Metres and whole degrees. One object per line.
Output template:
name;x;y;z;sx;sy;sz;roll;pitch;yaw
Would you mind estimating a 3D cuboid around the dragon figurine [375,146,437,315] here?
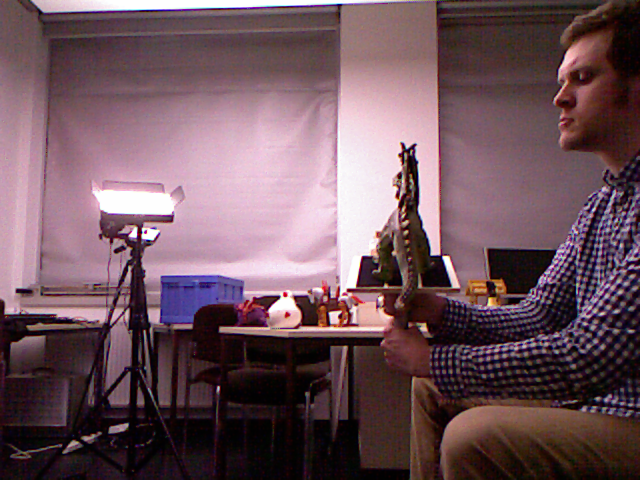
dragon figurine;0.160;-0.052;0.968;0.122;0.240;0.417;-2;18;6
